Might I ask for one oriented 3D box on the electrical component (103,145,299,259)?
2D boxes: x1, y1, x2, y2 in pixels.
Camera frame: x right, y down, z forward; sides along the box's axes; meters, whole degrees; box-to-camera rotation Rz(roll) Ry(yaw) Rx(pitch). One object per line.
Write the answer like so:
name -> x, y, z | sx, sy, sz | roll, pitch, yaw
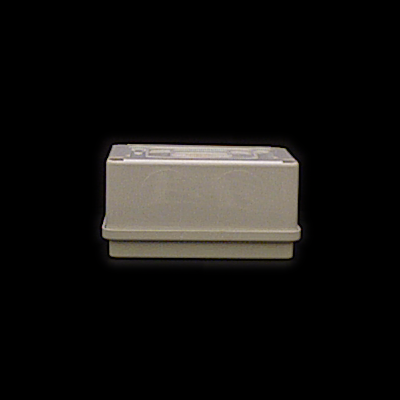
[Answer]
electrical component -> 0.000, 0.000, 0.644 | 0.113, 0.057, 0.077 | 0, 11, -2
